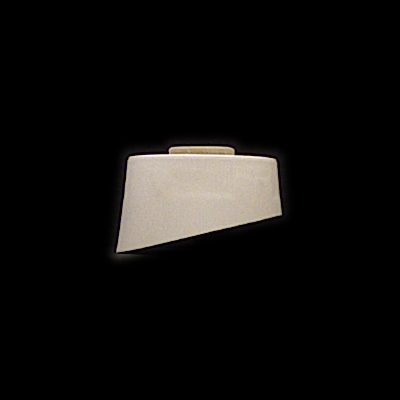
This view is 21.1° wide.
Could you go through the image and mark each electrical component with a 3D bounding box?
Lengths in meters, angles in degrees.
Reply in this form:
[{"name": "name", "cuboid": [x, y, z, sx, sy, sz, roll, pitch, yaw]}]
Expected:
[{"name": "electrical component", "cuboid": [0.000, 0.000, 0.650, 0.099, 0.064, 0.099, 1, 0, 0]}]
